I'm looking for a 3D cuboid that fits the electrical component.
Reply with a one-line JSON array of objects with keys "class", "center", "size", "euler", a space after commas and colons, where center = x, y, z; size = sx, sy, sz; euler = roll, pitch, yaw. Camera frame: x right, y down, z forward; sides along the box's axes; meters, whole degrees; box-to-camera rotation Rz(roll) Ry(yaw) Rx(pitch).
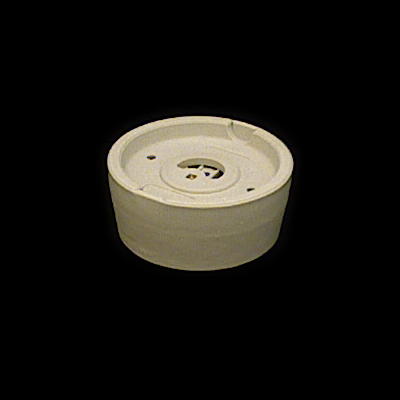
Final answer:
[{"class": "electrical component", "center": [0.000, 0.000, 0.638], "size": [0.108, 0.061, 0.106], "euler": [1, 32, 0]}]
